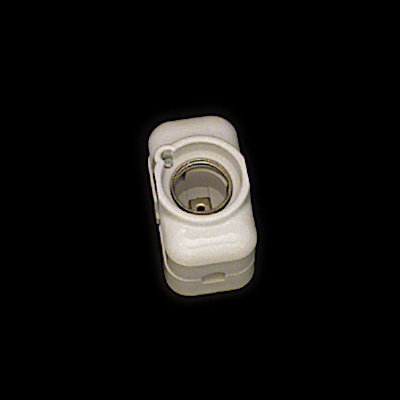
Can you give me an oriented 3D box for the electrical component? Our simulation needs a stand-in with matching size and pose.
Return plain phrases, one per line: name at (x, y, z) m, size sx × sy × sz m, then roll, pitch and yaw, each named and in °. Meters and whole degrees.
electrical component at (0.000, 0.000, 0.634) m, size 0.054 × 0.095 × 0.059 m, roll -9°, pitch -27°, yaw -4°
